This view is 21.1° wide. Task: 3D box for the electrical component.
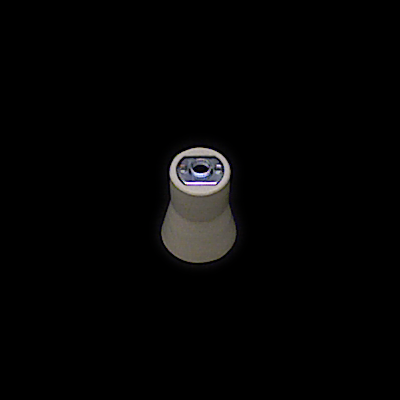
[{"bbox_3d":[0.000,0.000,0.625,0.044,0.044,0.065,0,-37,-1],"label":"electrical component"}]
